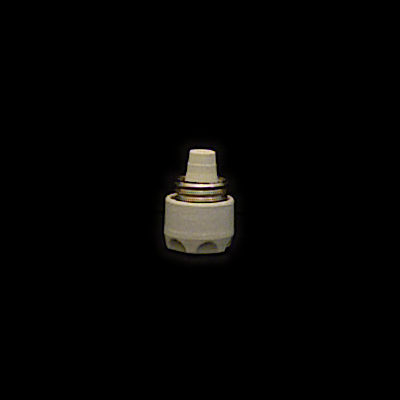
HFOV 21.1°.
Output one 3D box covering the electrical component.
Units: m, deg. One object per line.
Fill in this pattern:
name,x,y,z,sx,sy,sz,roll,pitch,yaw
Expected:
electrical component,0.000,0.000,0.651,0.043,0.062,0.043,3,12,0
